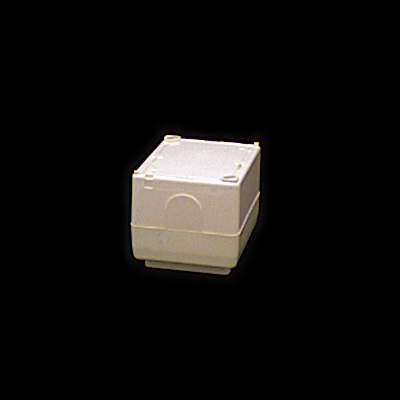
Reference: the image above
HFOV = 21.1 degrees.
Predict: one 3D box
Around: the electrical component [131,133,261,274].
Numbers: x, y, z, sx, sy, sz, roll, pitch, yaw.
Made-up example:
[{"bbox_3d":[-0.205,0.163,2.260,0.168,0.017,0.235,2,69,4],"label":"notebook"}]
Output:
[{"bbox_3d":[0.000,0.000,0.640,0.062,0.061,0.095,5,20,11],"label":"electrical component"}]
